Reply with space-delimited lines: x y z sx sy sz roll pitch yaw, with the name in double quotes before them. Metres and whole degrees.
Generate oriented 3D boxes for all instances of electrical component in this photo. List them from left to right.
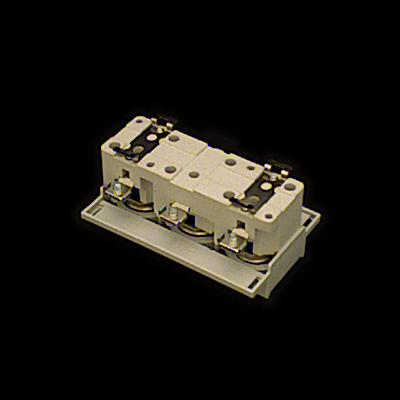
"electrical component" 0.000 0.000 0.640 0.120 0.063 0.078 24 47 23
